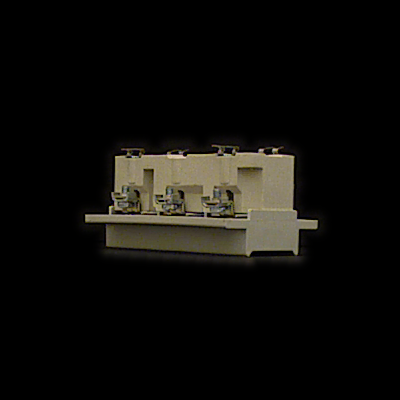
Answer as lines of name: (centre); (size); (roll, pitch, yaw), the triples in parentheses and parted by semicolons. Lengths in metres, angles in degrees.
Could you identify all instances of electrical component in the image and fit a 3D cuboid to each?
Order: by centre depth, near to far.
electrical component: (0.000, 0.000, 0.654); (0.120, 0.063, 0.079); (1, 1, 44)
